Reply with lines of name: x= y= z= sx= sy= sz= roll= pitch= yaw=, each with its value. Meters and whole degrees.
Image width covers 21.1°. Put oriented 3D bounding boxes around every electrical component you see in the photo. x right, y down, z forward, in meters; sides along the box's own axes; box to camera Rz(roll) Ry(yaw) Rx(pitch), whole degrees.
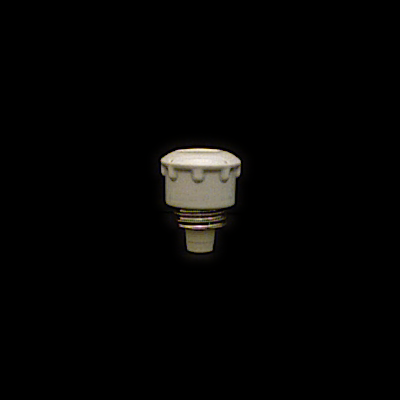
electrical component: x=0.000 y=0.000 z=0.648 sx=0.048 sy=0.062 sz=0.048 roll=1 pitch=11 yaw=0
